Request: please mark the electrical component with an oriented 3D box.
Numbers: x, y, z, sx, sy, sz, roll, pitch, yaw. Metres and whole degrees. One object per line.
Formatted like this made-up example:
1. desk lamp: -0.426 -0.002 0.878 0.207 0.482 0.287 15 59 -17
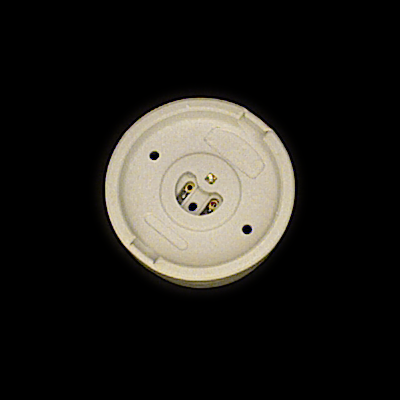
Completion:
1. electrical component: 0.000 0.000 0.635 0.108 0.108 0.060 0 -16 0
